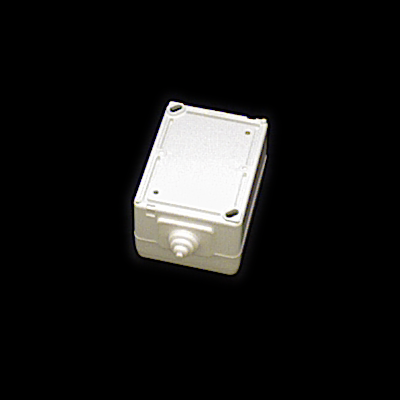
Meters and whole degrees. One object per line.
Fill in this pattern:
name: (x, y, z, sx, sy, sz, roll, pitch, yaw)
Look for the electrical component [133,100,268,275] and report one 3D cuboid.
electrical component: (-0.001, 0.000, 0.623, 0.062, 0.096, 0.061, 11, -38, 7)
